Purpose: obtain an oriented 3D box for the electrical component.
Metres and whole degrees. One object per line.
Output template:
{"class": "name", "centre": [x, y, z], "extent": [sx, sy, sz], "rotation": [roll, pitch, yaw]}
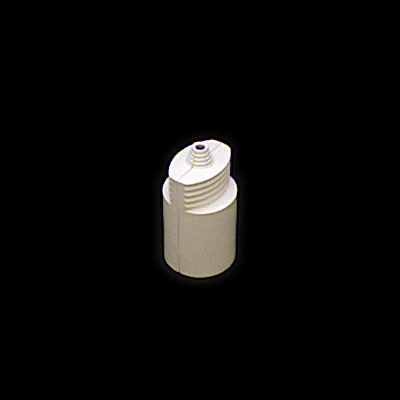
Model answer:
{"class": "electrical component", "centre": [0.000, 0.000, 0.624], "extent": [0.043, 0.082, 0.042], "rotation": [1, 41, 0]}
